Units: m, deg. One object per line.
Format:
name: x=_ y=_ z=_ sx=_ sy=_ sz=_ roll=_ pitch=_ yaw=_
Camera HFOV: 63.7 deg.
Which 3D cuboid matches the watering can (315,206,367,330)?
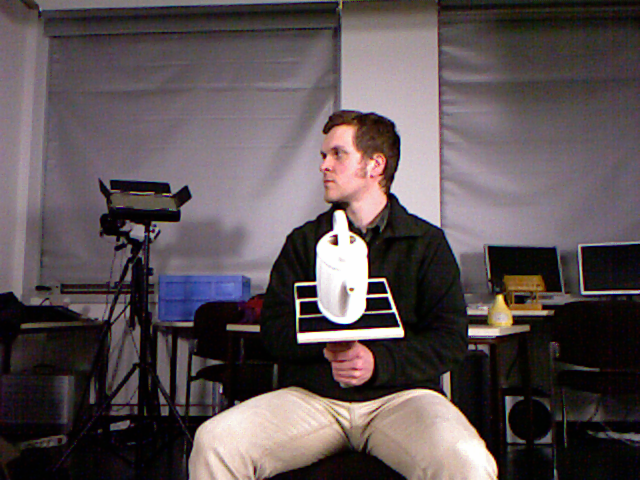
watering can: x=0.043 y=0.075 z=0.978 sx=0.104 sy=0.220 sz=0.355 roll=-2 pitch=27 yaw=-1
